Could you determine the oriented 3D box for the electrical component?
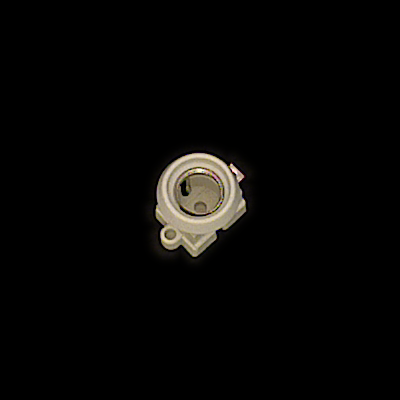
[{"bbox_3d":[0.000,0.000,0.638,0.067,0.048,0.055,-43,-10,-11],"label":"electrical component"}]
